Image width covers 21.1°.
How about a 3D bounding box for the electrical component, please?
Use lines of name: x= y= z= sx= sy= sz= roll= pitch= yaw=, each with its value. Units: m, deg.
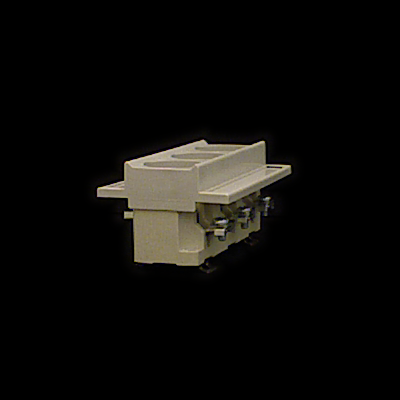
electrical component: x=0.000 y=0.000 z=0.656 sx=0.078 sy=0.063 sz=0.121 roll=4 pitch=11 yaw=21
